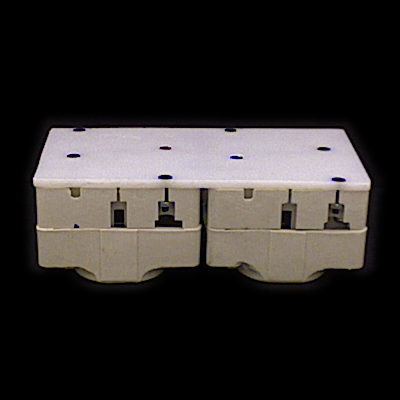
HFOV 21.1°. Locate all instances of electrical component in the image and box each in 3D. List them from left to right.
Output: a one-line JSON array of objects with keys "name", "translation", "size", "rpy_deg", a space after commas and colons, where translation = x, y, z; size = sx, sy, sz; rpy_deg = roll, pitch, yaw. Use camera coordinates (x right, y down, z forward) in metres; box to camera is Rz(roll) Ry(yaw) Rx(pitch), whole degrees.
[{"name": "electrical component", "translation": [0.000, 0.000, 0.639], "size": [0.186, 0.061, 0.104], "rpy_deg": [0, 21, -3]}]
